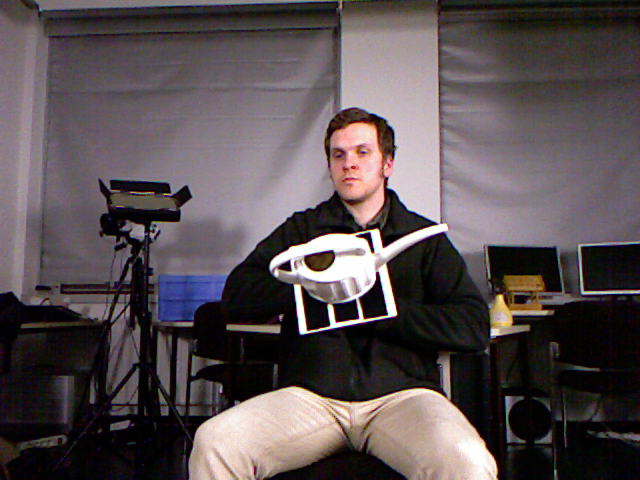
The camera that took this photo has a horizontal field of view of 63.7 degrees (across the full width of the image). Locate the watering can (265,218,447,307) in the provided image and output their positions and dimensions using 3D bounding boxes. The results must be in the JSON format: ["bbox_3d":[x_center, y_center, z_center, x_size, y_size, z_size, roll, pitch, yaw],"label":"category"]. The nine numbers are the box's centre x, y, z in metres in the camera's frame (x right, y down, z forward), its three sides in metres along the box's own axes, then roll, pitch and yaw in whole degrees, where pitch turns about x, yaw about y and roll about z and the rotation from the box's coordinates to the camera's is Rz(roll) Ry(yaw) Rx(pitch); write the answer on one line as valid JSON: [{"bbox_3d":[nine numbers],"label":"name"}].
[{"bbox_3d":[0.072,0.045,1.005,0.348,0.106,0.221,-11,-27,6],"label":"watering can"}]
